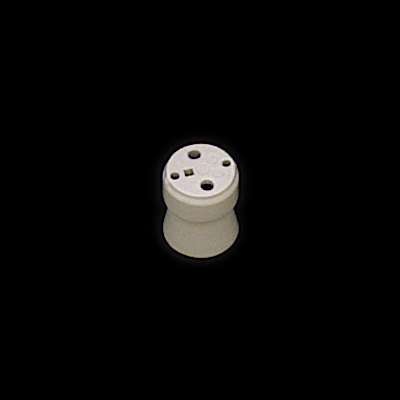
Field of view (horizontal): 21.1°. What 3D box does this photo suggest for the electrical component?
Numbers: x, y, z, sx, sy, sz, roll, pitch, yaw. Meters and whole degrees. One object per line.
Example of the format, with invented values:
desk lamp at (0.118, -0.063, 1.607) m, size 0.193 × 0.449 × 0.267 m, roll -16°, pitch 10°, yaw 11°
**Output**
electrical component at (0.000, 0.000, 0.631) m, size 0.045 × 0.044 × 0.055 m, roll 0°, pitch -38°, yaw -1°
